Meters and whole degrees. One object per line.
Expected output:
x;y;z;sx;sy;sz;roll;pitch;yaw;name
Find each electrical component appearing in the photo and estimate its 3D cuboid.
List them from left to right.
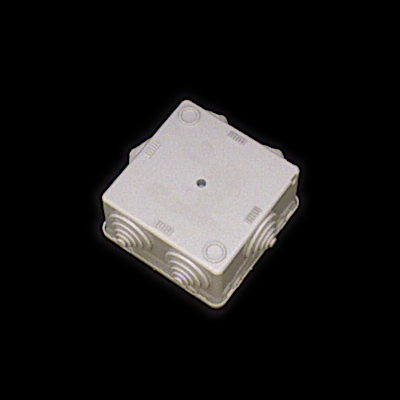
0.000;0.000;0.631;0.099;0.100;0.048;33;-22;15;electrical component
